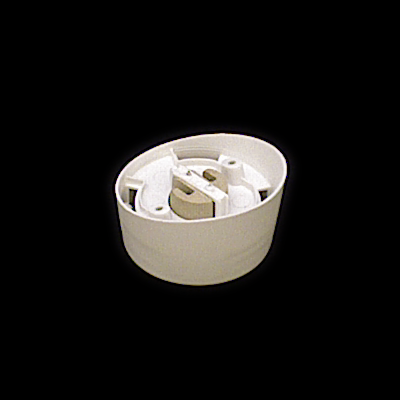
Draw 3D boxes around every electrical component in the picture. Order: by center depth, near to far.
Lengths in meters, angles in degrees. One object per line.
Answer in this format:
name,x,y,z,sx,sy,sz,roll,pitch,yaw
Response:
electrical component,0.000,0.000,0.629,0.099,0.065,0.098,1,42,-1
